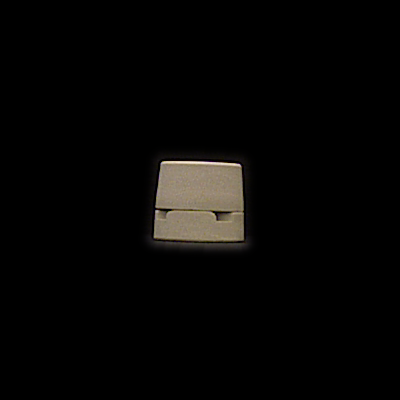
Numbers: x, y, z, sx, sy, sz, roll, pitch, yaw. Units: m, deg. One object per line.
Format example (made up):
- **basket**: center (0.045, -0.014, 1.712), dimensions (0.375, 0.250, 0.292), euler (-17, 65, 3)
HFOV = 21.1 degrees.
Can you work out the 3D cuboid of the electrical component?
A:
- **electrical component**: center (0.000, 0.000, 0.650), dimensions (0.055, 0.047, 0.055), euler (2, 1, 0)
